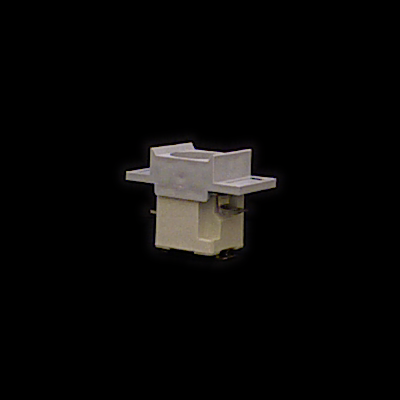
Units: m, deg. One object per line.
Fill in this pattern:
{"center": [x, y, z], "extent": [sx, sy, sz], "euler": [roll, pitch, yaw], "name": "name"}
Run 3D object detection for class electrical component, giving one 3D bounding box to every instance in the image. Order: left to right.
{"center": [0.000, 0.000, 0.645], "extent": [0.080, 0.064, 0.042], "euler": [9, 15, 33], "name": "electrical component"}
